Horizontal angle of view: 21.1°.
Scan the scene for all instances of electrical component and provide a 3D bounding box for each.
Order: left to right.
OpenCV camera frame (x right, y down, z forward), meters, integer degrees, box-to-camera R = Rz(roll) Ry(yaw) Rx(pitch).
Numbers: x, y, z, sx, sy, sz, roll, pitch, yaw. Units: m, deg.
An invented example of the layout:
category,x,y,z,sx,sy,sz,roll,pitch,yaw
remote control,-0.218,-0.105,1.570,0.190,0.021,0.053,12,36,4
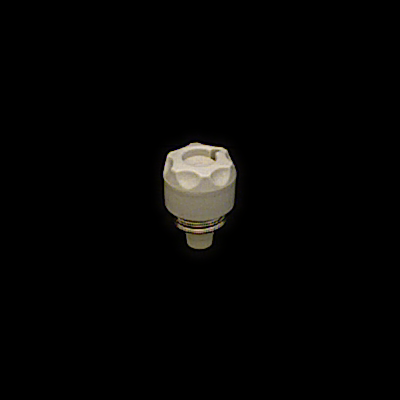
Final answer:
category,x,y,z,sx,sy,sz,roll,pitch,yaw
electrical component,0.000,0.000,0.641,0.043,0.063,0.043,0,33,0
